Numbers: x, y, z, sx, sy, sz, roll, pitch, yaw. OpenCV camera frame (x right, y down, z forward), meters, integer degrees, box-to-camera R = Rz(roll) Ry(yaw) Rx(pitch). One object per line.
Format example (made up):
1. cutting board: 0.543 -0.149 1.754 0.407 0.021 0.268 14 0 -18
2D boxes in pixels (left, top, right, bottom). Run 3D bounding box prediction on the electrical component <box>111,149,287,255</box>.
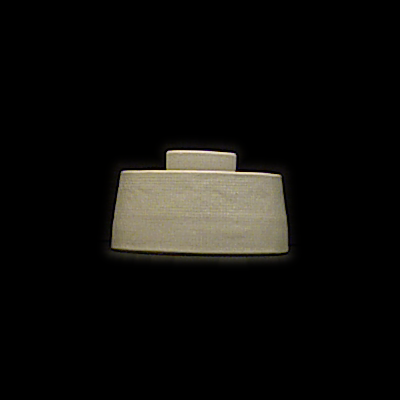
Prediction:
1. electrical component: 0.000 0.000 0.655 0.108 0.060 0.108 1 1 1
